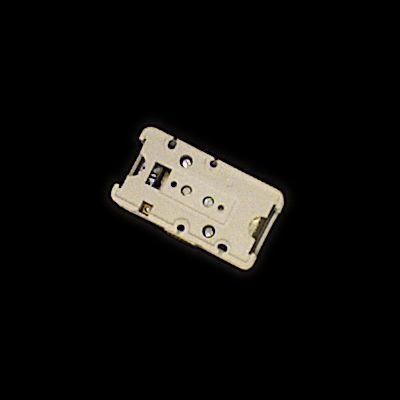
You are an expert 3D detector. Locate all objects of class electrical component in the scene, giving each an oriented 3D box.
[{"bbox_3d":[0.000,0.000,0.637,0.089,0.050,0.055,27,-4,3],"label":"electrical component"}]
